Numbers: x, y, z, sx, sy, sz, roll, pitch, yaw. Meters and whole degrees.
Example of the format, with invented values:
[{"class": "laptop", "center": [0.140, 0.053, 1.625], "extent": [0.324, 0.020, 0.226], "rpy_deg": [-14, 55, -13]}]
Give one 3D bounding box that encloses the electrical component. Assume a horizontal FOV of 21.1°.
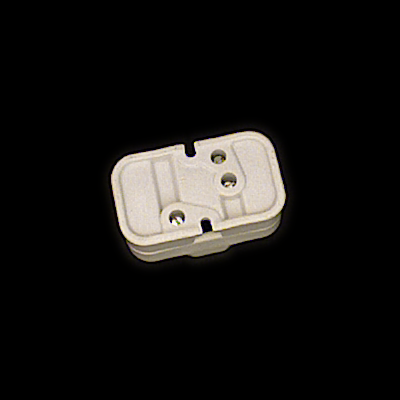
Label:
[{"class": "electrical component", "center": [0.000, 0.000, 0.636], "extent": [0.095, 0.054, 0.059], "rpy_deg": [-12, -16, -3]}]
